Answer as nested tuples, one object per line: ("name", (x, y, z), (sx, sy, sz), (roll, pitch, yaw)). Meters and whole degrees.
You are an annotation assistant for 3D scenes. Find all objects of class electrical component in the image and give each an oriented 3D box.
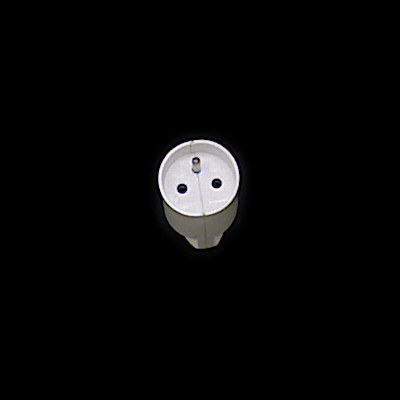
("electrical component", (0.000, 0.000, 0.615), (0.043, 0.043, 0.080), (0, -18, 0))
